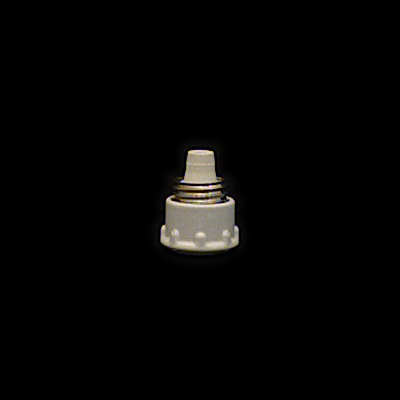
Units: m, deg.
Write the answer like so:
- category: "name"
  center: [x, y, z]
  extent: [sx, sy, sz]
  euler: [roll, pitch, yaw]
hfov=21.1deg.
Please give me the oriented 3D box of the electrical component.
- category: "electrical component"
  center: [0.000, 0.000, 0.652]
  extent: [0.048, 0.062, 0.048]
  euler: [1, 11, 0]
